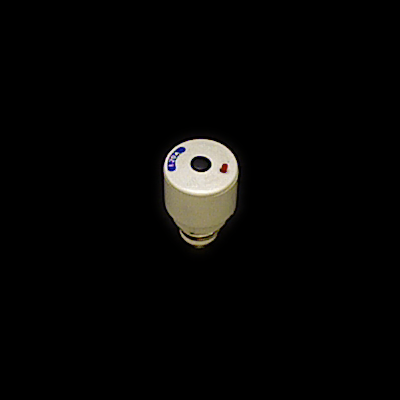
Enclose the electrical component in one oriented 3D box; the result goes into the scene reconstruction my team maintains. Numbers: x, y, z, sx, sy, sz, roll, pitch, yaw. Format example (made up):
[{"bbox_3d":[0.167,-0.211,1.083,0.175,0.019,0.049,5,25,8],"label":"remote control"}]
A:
[{"bbox_3d":[0.000,0.000,0.619,0.040,0.040,0.078,0,-38,-1],"label":"electrical component"}]
